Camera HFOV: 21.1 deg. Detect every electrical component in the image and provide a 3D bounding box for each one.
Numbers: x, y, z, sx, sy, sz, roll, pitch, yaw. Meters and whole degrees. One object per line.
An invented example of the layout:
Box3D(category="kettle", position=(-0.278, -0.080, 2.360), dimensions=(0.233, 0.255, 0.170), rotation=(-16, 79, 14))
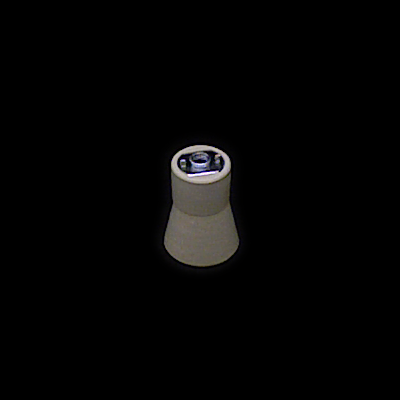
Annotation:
Box3D(category="electrical component", position=(0.000, 0.000, 0.631), dimensions=(0.044, 0.066, 0.044), rotation=(0, 41, 0))
